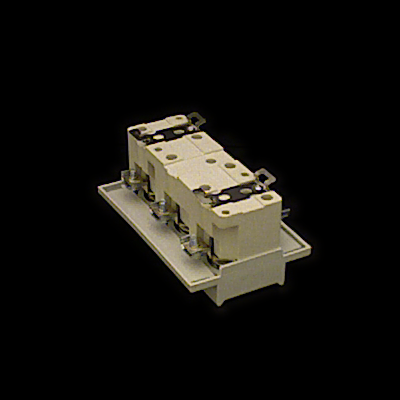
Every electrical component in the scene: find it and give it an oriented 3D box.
[{"bbox_3d":[0.000,0.000,0.639,0.079,0.064,0.119,-17,36,-25],"label":"electrical component"}]
